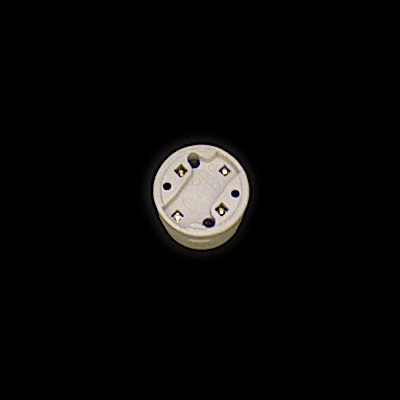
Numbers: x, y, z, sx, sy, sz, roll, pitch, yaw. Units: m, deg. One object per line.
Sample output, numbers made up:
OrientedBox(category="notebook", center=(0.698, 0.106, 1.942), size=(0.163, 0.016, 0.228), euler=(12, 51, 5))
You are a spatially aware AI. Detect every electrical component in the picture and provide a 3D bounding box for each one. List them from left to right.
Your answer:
OrientedBox(category="electrical component", center=(0.000, 0.000, 0.635), size=(0.055, 0.056, 0.047), euler=(0, -17, 0))
